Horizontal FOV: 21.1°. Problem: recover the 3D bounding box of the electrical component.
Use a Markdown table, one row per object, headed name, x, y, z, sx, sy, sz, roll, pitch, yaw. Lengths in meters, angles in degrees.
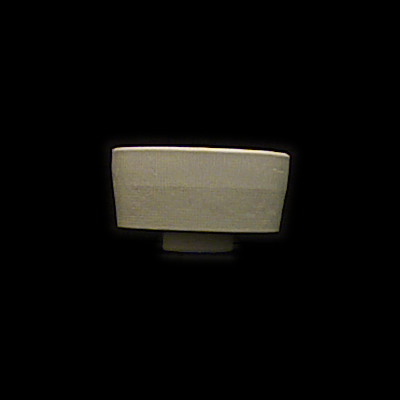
| name | x | y | z | sx | sy | sz | roll | pitch | yaw |
| --- | --- | --- | --- | --- | --- | --- | --- | --- | --- |
| electrical component | 0.000 | 0.000 | 0.653 | 0.108 | 0.060 | 0.108 | 2 | 1 | 1 |
